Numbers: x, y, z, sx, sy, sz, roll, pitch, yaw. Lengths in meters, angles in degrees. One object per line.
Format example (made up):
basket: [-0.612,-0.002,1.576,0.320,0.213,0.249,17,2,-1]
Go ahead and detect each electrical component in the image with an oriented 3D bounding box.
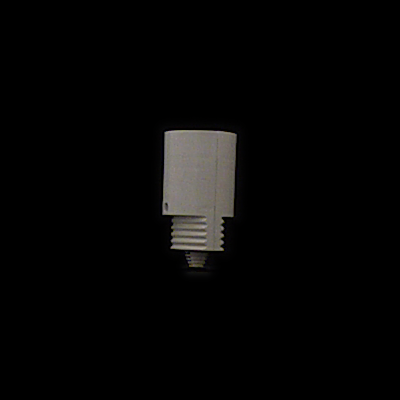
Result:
electrical component: [0.000,0.000,0.649,0.043,0.081,0.043,1,2,0]
